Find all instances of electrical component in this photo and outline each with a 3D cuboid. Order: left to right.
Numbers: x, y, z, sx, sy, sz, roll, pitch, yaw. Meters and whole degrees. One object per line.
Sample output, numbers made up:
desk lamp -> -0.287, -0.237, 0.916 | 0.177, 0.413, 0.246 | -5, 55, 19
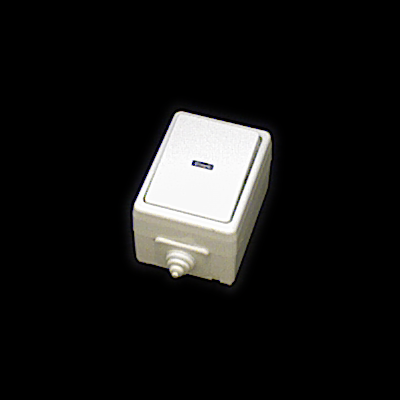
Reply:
electrical component -> 0.000, 0.000, 0.626 | 0.061, 0.096, 0.061 | 14, -37, 10
